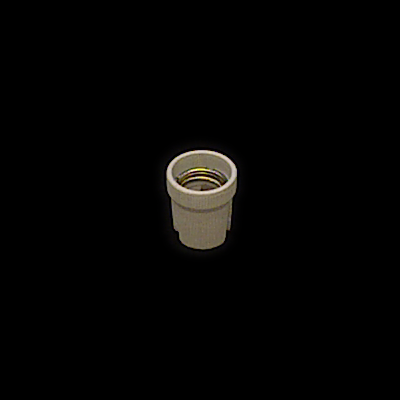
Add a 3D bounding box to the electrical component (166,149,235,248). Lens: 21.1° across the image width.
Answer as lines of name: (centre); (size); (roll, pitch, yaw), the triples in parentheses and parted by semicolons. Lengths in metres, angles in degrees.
electrical component: (0.000, 0.000, 0.633); (0.040, 0.047, 0.039); (1, 42, 0)
